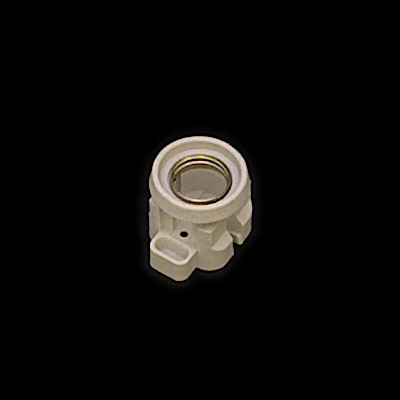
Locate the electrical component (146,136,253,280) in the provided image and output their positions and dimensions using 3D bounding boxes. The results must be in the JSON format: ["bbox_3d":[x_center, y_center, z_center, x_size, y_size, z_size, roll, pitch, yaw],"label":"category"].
[{"bbox_3d":[0.000,0.000,0.630,0.057,0.078,0.057,27,-33,19],"label":"electrical component"}]
